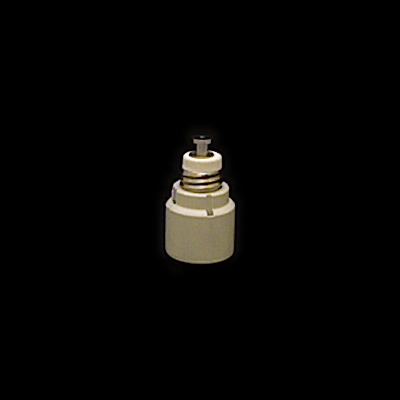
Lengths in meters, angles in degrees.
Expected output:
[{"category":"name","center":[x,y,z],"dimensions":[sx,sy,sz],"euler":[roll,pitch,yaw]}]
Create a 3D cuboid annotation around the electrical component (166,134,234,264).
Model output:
[{"category":"electrical component","center":[0.000,0.000,0.637],"dimensions":[0.040,0.079,0.039],"euler":[2,22,0]}]
